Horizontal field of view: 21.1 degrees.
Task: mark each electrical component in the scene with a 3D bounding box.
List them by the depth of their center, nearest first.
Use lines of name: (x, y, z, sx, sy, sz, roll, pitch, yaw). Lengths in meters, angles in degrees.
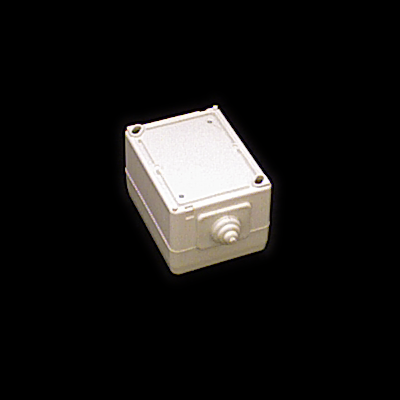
electrical component: (0.000, 0.000, 0.629, 0.062, 0.061, 0.095, -15, 45, -17)
